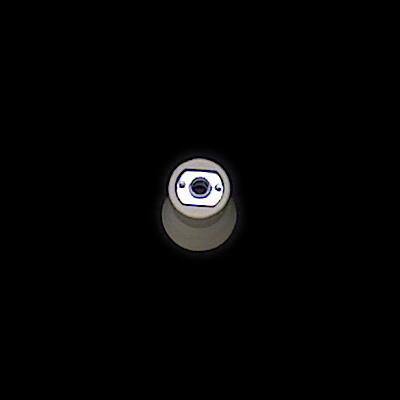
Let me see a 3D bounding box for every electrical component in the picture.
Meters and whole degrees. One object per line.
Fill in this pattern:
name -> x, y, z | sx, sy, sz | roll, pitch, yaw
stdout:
electrical component -> 0.000, 0.000, 0.624 | 0.044, 0.044, 0.065 | 0, -16, 0
